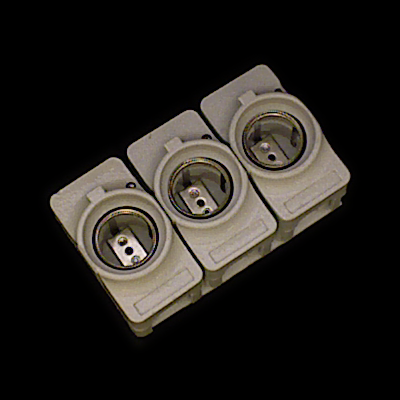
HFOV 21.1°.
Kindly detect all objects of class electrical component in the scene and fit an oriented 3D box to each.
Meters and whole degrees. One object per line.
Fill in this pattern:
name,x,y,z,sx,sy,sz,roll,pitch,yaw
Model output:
electrical component,0.000,0.000,0.631,0.150,0.089,0.062,-33,-15,-10
